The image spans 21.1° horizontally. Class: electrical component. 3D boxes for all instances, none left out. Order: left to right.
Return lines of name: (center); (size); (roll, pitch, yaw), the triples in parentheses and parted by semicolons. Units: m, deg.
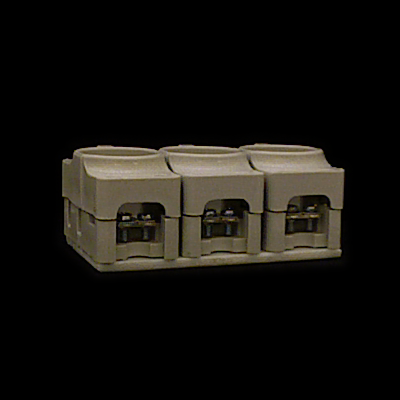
electrical component: (0.000, 0.000, 0.652); (0.150, 0.062, 0.088); (-2, 10, -20)
